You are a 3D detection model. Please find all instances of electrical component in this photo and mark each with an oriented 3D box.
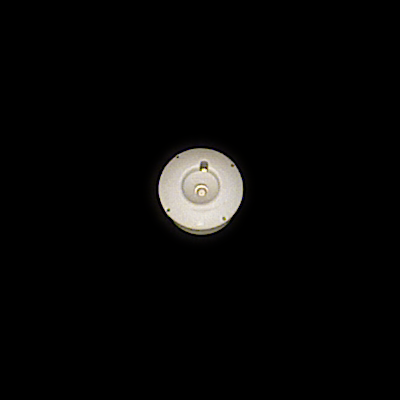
[{"bbox_3d":[0.000,0.000,0.633,0.048,0.048,0.061,0,-16,1],"label":"electrical component"}]
